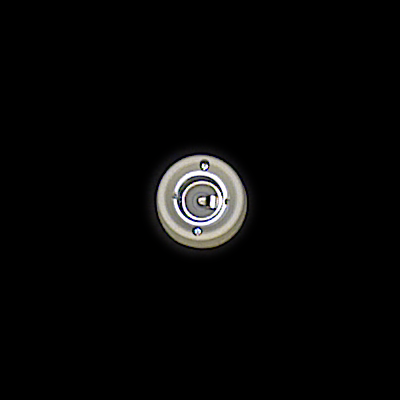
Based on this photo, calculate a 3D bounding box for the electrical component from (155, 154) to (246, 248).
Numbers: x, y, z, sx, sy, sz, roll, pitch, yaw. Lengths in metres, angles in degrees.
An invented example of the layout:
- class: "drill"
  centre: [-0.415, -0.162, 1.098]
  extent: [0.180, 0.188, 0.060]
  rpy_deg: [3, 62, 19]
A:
- class: "electrical component"
  centre: [0.000, 0.000, 0.633]
  extent: [0.055, 0.055, 0.047]
  rpy_deg: [0, -6, 1]
